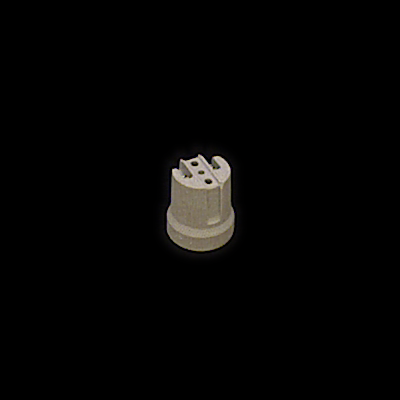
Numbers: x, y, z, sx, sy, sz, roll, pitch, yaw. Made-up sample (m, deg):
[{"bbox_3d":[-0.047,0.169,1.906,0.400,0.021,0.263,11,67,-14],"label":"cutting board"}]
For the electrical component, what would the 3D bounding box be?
[{"bbox_3d":[0.000,0.000,0.637,0.040,0.046,0.040,1,42,-1],"label":"electrical component"}]
